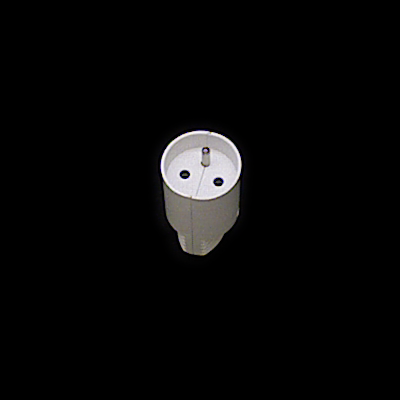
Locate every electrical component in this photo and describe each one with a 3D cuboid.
[{"bbox_3d":[0.000,0.000,0.617,0.043,0.043,0.081,0,-28,-1],"label":"electrical component"}]
